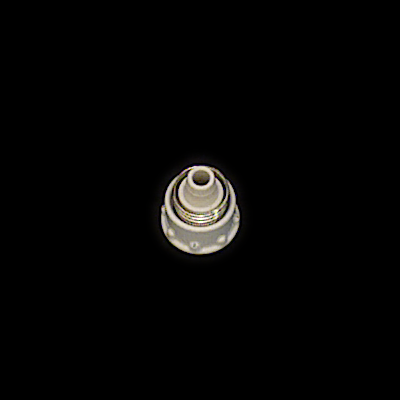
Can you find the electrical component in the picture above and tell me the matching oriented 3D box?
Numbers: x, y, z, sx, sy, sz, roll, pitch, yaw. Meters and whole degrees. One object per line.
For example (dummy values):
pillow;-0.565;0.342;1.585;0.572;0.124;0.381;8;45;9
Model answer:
electrical component;0.000;0.000;0.633;0.048;0.048;0.062;0;-26;0
